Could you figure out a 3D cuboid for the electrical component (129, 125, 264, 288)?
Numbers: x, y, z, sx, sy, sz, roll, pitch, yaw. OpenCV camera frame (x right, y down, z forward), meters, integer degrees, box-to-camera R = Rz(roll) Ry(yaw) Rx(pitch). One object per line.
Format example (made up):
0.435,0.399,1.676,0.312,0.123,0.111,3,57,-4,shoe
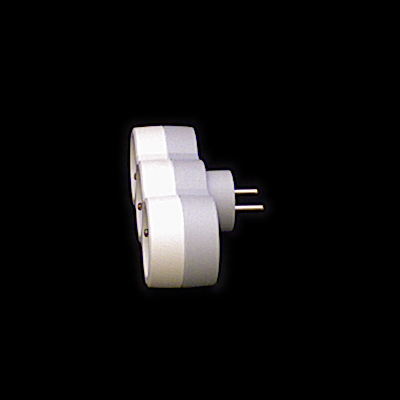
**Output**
0.000,0.000,0.639,0.074,0.053,0.136,-2,31,-8,electrical component
